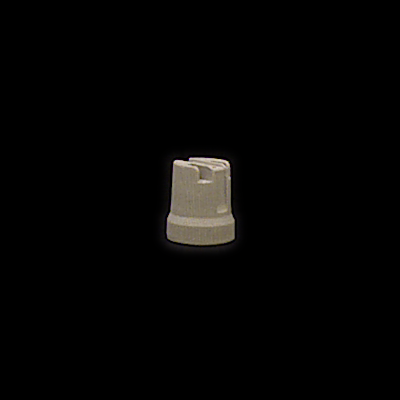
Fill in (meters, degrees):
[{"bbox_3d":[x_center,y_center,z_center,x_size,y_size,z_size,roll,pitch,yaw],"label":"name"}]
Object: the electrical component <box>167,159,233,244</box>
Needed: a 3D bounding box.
[{"bbox_3d":[0.000,0.000,0.644,0.040,0.046,0.040,1,11,0],"label":"electrical component"}]
